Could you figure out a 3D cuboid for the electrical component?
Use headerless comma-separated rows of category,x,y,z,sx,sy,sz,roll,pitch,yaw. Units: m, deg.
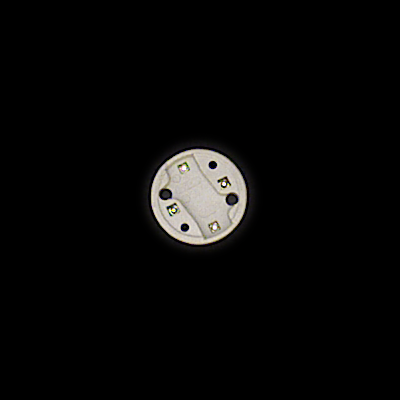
electrical component,0.000,0.000,0.636,0.055,0.055,0.047,0,-6,0
